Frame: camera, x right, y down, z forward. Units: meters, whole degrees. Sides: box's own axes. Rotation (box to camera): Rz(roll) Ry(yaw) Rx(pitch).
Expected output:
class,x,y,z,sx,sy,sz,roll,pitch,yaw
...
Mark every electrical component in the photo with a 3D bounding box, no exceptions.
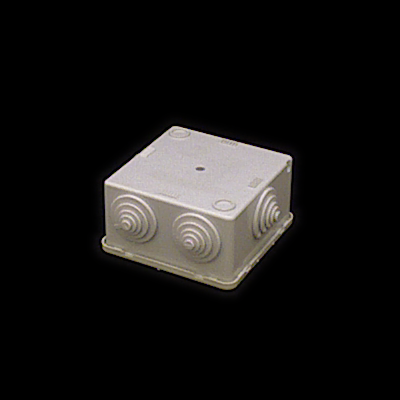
class,x,y,z,sx,sy,sz,roll,pitch,yaw
electrical component,0.000,0.000,0.637,0.099,0.049,0.099,16,35,23
